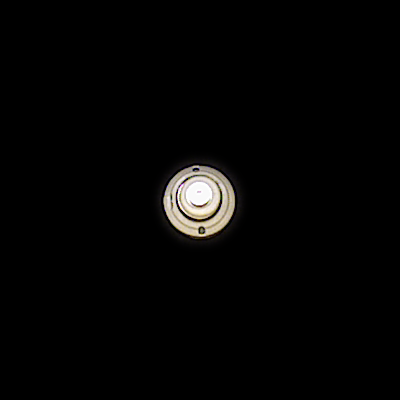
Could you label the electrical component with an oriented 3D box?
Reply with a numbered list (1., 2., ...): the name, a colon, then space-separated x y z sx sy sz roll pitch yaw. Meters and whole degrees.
1. electrical component: 0.000 0.000 0.618 0.040 0.040 0.078 0 -5 0
